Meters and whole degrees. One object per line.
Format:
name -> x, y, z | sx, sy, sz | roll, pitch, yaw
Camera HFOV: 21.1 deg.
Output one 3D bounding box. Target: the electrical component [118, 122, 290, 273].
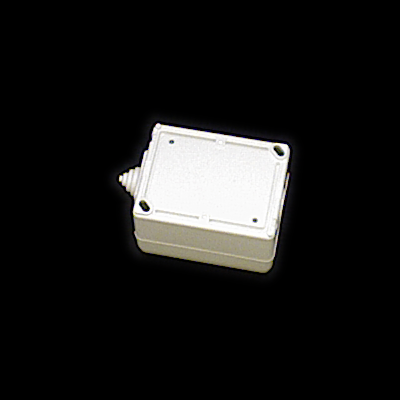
electrical component -> 0.000, 0.000, 0.626 | 0.096, 0.062, 0.061 | 10, -27, 5
